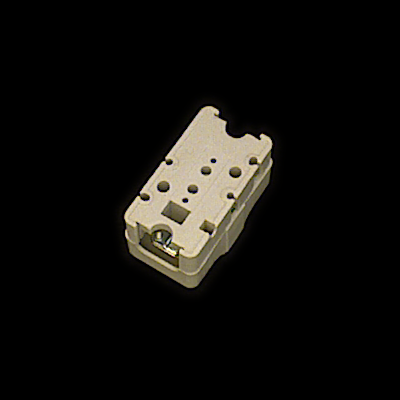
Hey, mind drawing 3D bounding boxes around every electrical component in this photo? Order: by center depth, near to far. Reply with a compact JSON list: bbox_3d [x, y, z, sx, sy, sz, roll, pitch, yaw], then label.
[{"bbox_3d":[0.000,0.000,0.636,0.050,0.090,0.055,30,-23,13],"label":"electrical component"}]
